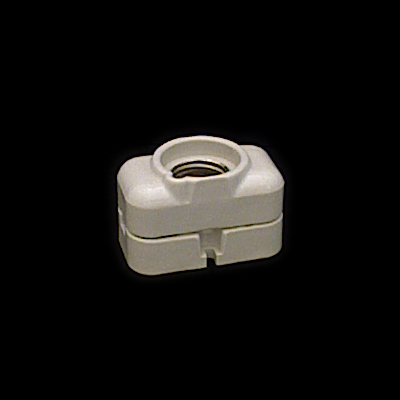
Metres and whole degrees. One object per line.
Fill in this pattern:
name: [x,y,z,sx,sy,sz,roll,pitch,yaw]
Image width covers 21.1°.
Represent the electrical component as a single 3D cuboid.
electrical component: [0.000,0.000,0.640,0.095,0.060,0.053,-8,33,-13]
